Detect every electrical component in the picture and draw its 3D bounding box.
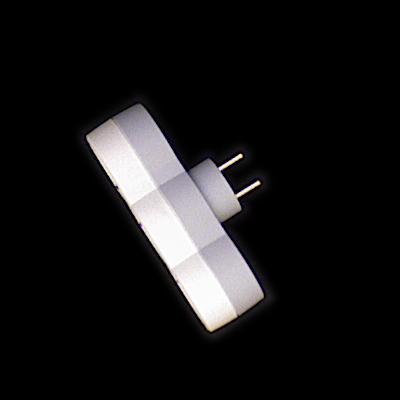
[{"bbox_3d":[0.000,0.000,0.632,0.074,0.138,0.052,-33,-6,-5],"label":"electrical component"}]
